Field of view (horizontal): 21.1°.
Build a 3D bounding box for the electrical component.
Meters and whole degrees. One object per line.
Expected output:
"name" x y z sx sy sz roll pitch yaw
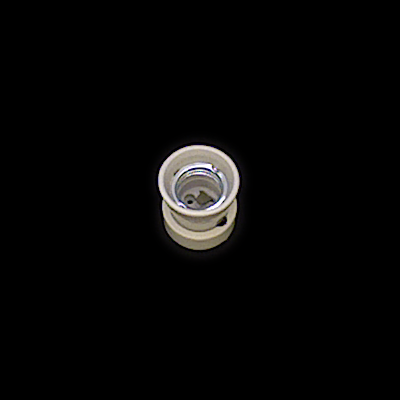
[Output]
"electrical component" 0.000 0.000 0.627 0.045 0.045 0.055 0 -27 0
